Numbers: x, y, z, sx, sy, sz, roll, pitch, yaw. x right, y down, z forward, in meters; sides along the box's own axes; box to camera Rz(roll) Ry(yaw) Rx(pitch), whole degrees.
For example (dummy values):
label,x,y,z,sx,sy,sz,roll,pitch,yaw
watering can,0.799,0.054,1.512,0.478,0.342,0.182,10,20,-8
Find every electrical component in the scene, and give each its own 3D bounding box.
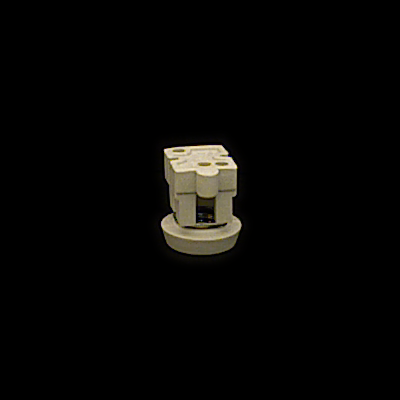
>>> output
label,x,y,z,sx,sy,sz,roll,pitch,yaw
electrical component,0.000,0.000,0.646,0.048,0.056,0.065,-4,22,-10
